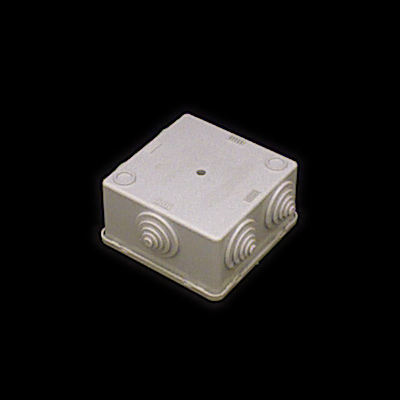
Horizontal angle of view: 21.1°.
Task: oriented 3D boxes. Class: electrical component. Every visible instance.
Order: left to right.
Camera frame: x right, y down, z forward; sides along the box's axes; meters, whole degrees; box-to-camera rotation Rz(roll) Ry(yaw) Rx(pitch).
[{"bbox_3d":[0.000,0.000,0.635,0.099,0.049,0.099,27,48,25],"label":"electrical component"}]
